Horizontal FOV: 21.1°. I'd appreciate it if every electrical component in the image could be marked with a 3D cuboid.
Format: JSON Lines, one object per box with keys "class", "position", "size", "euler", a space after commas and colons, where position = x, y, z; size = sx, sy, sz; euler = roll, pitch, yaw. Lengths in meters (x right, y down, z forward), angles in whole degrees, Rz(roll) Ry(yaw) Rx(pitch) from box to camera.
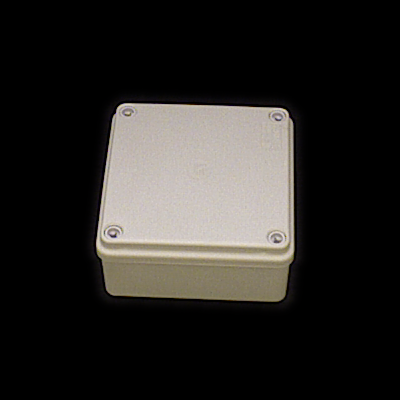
{"class": "electrical component", "position": [0.000, 0.000, 0.630], "size": [0.109, 0.108, 0.056], "euler": [2, -38, 1]}
